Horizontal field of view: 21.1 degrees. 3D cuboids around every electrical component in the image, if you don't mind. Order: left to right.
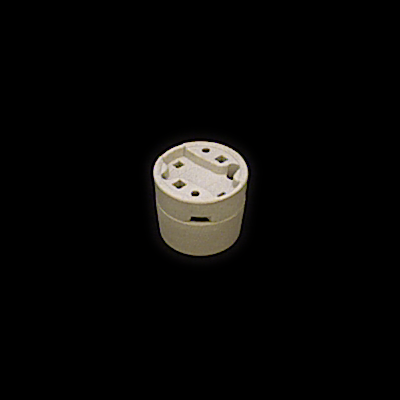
[{"bbox_3d":[0.000,0.000,0.636,0.055,0.047,0.055,1,42,-1],"label":"electrical component"}]
